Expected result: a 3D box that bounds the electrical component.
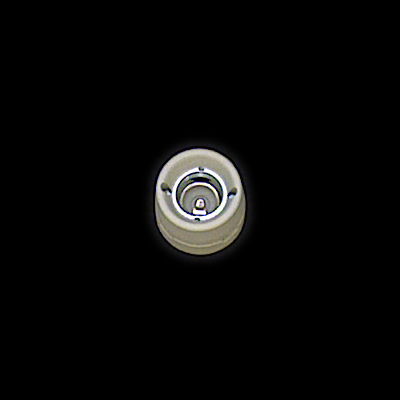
[{"bbox_3d":[0.000,0.000,0.633,0.055,0.056,0.047,0,-17,1],"label":"electrical component"}]
